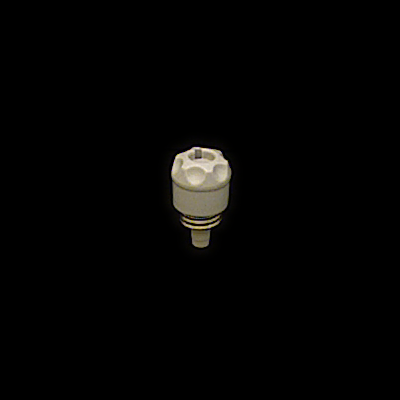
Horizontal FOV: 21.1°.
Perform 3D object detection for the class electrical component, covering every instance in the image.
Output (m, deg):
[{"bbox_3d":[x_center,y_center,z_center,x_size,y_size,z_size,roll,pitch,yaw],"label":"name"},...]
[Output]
[{"bbox_3d":[0.000,0.000,0.643,0.035,0.062,0.034,1,32,0],"label":"electrical component"}]
